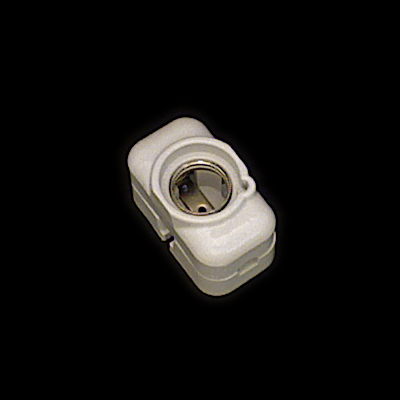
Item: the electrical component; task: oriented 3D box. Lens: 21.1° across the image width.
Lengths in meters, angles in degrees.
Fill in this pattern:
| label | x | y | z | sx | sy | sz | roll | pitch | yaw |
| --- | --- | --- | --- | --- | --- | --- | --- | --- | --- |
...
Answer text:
| label | x | y | z | sx | sy | sz | roll | pitch | yaw |
| --- | --- | --- | --- | --- | --- | --- | --- | --- | --- |
| electrical component | 0.000 | 0.000 | 0.634 | 0.054 | 0.095 | 0.059 | -33 | -22 | -14 |
